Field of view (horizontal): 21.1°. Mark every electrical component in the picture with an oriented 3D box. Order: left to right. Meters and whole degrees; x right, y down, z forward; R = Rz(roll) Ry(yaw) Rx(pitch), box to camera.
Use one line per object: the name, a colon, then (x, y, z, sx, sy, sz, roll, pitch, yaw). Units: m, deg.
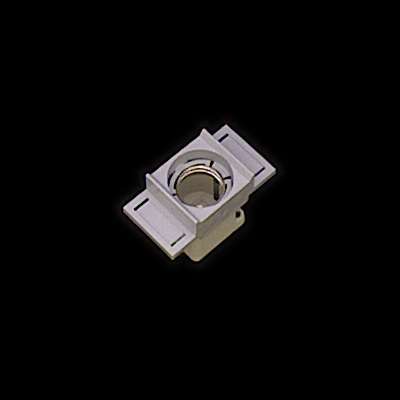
electrical component: (0.000, 0.000, 0.623, 0.081, 0.042, 0.063, -39, -20, -19)
